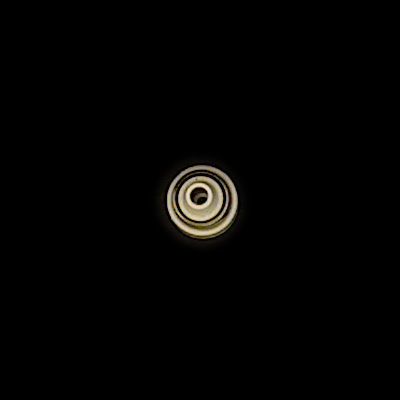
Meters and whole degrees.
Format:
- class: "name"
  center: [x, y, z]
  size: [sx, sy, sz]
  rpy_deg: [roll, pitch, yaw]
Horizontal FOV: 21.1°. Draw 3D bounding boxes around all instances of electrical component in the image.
- class: "electrical component"
  center: [0.000, 0.000, 0.635]
  size: [0.043, 0.043, 0.062]
  rpy_deg: [0, -6, 2]
